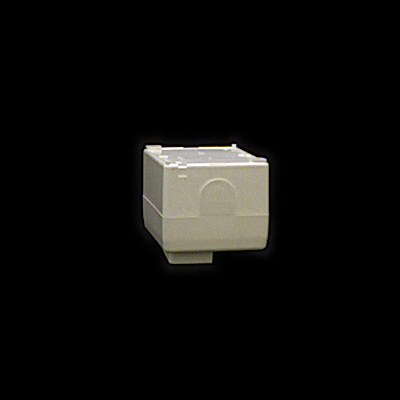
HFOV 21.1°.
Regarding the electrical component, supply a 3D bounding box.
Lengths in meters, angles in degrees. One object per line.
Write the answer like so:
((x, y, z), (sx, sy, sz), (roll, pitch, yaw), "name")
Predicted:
((0.000, 0.000, 0.651), (0.062, 0.061, 0.095), (-2, 11, -12), "electrical component")
